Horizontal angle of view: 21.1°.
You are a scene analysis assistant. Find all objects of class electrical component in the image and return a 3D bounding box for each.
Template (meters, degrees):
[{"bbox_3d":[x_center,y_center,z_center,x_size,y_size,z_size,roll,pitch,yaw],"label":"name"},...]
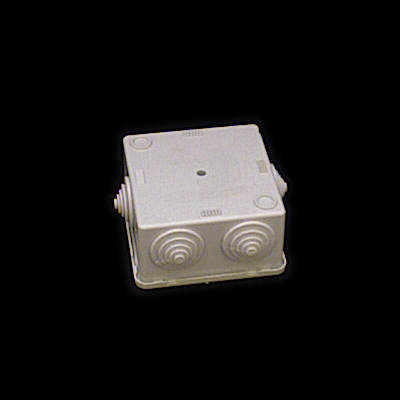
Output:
[{"bbox_3d":[0.000,0.000,0.635,0.100,0.049,0.098,-6,43,-7],"label":"electrical component"}]
